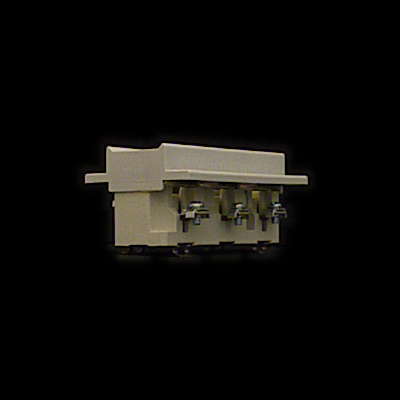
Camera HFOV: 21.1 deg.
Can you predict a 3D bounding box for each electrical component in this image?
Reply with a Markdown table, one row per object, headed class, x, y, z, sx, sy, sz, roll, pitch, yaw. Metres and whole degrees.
| class | x | y | z | sx | sy | sz | roll | pitch | yaw |
| --- | --- | --- | --- | --- | --- | --- | --- | --- | --- |
| electrical component | 0.000 | 0.000 | 0.662 | 0.078 | 0.063 | 0.122 | 0 | 0 | 38 |
